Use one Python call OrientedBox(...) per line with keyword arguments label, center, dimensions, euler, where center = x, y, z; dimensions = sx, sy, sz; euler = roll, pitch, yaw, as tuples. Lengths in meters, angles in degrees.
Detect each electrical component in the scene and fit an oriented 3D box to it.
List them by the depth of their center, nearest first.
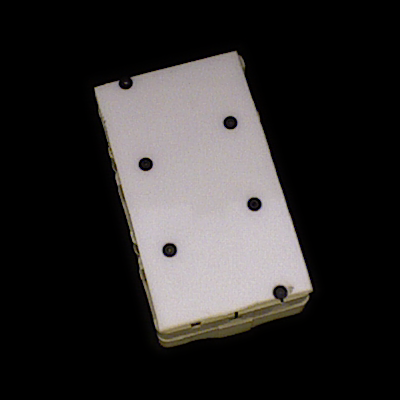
OrientedBox(label="electrical component", center=(0.000, 0.000, 0.631), dimensions=(0.090, 0.149, 0.062), euler=(-14, -17, -4))
